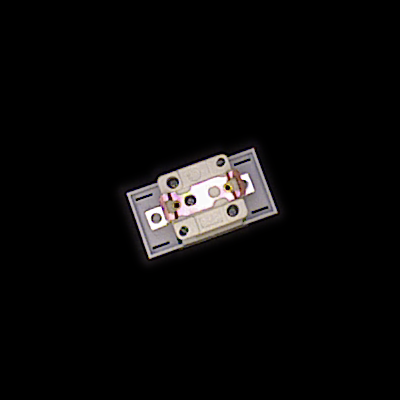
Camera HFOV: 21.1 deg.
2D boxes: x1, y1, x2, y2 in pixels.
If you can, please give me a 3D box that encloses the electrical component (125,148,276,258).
[{"bbox_3d":[0.000,0.000,0.626,0.081,0.042,0.063,-20,-6,-2],"label":"electrical component"}]
